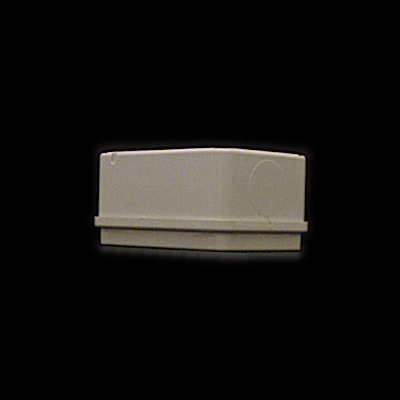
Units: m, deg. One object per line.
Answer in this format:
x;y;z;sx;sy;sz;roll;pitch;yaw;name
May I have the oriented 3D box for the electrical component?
0.000;0.000;0.649;0.113;0.057;0.078;2;1;45;electrical component
